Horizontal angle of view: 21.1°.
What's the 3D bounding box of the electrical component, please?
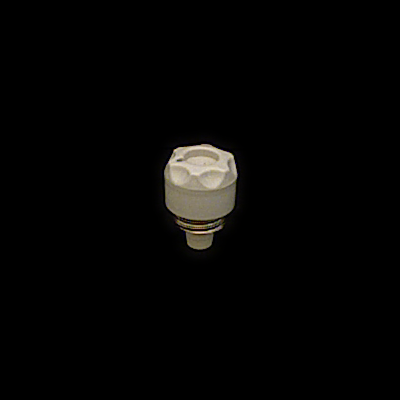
[{"bbox_3d":[0.000,0.000,0.642,0.043,0.063,0.043,1,32,0],"label":"electrical component"}]
